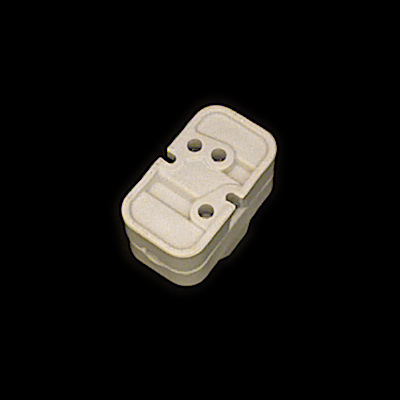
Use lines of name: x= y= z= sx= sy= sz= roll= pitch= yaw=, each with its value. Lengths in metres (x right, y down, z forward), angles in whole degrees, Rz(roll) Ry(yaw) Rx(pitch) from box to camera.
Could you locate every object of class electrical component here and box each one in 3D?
electrical component: x=0.000 y=0.000 z=0.635 sx=0.053 sy=0.096 sz=0.059 roll=33 pitch=-22 yaw=15
